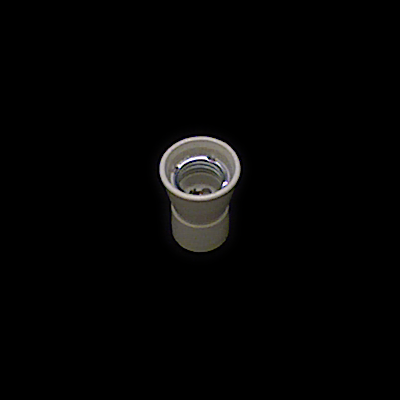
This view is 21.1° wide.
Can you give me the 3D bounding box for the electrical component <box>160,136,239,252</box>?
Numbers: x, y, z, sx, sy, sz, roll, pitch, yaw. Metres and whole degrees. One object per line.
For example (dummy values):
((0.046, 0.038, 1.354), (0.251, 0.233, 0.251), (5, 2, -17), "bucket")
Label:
((0.000, 0.000, 0.625), (0.044, 0.044, 0.065), (0, -36, 0), "electrical component")
